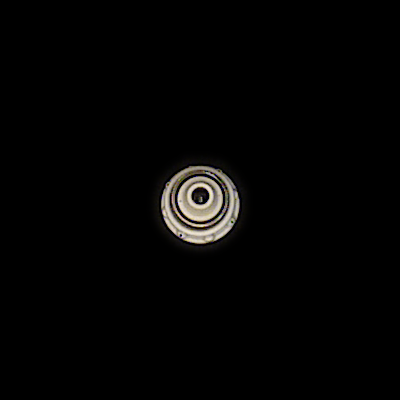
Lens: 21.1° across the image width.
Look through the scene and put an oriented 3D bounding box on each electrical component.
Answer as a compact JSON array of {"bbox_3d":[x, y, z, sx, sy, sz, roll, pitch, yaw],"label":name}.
[{"bbox_3d":[0.000,0.000,0.635,0.048,0.048,0.062,0,-6,-1],"label":"electrical component"}]
